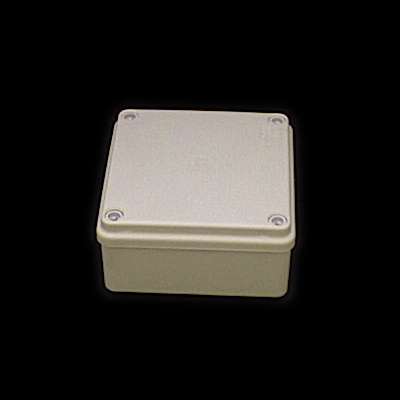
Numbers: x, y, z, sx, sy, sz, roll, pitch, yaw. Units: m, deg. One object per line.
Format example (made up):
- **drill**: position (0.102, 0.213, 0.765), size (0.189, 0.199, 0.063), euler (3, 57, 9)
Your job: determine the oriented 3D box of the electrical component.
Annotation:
- **electrical component**: position (0.000, 0.000, 0.631), size (0.109, 0.056, 0.108), euler (2, 42, 2)
